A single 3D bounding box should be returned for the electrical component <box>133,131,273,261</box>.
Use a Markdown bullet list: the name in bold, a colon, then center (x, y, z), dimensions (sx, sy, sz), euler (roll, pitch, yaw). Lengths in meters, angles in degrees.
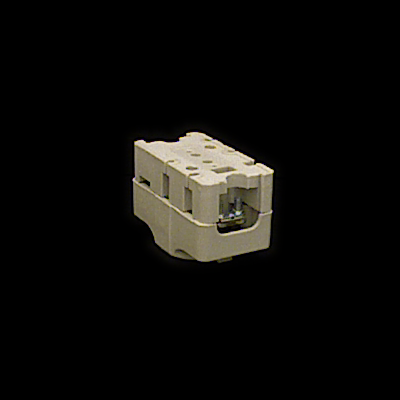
- **electrical component**: center (0.000, 0.000, 0.647), dimensions (0.050, 0.056, 0.088), euler (-11, 25, -29)
